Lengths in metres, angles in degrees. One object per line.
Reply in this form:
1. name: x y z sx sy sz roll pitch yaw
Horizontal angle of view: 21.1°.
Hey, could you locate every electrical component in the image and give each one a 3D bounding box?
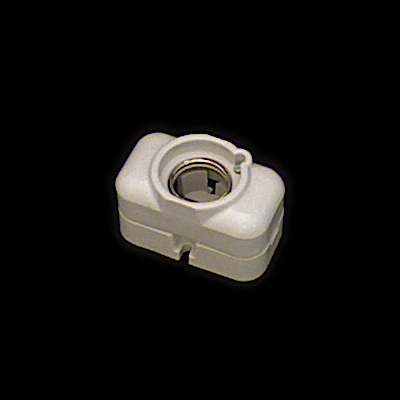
1. electrical component: 0.000 0.000 0.636 0.095 0.053 0.059 18 -35 12
